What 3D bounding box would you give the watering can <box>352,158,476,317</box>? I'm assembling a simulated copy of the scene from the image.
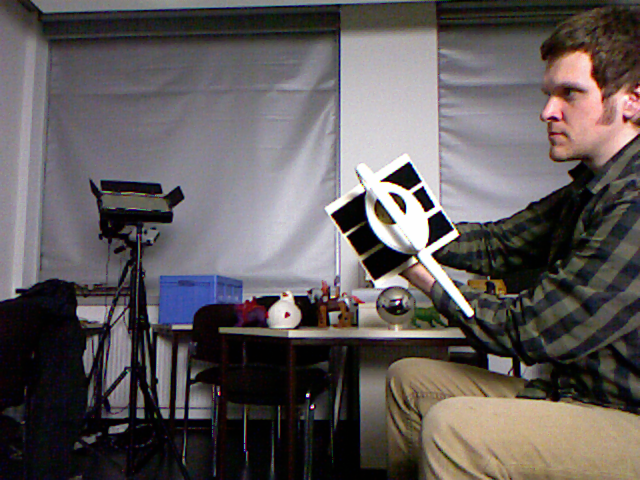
[{"bbox_3d":[0.168,-0.012,1.000,0.104,0.348,0.226,-36,4,5],"label":"watering can"}]
